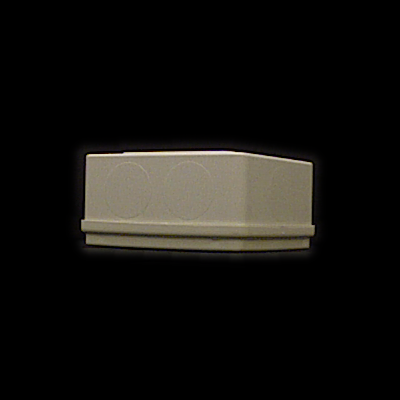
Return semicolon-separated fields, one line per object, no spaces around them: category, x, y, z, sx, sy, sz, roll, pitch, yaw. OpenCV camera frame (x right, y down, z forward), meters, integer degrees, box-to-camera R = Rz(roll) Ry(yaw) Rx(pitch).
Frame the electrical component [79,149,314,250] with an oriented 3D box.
electrical component;0.000;0.000;0.652;0.108;0.056;0.109;1;-1;28
